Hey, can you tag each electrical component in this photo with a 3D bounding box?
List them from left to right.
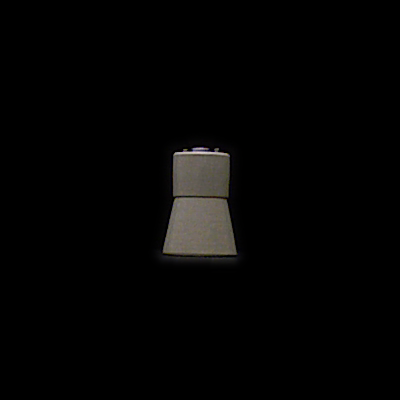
[{"bbox_3d":[0.000,0.000,0.651,0.044,0.065,0.044,1,0,0],"label":"electrical component"}]
